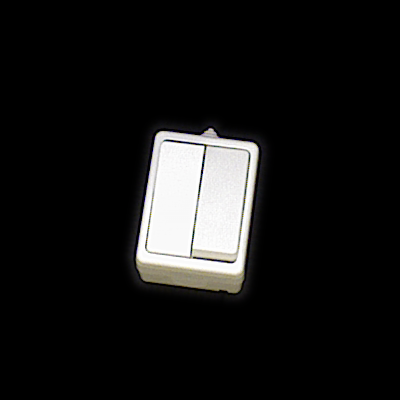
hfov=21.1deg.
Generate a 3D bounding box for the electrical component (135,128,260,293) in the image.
[{"bbox_3d":[0.000,0.000,0.627,0.062,0.096,0.060,8,-17,2],"label":"electrical component"}]
